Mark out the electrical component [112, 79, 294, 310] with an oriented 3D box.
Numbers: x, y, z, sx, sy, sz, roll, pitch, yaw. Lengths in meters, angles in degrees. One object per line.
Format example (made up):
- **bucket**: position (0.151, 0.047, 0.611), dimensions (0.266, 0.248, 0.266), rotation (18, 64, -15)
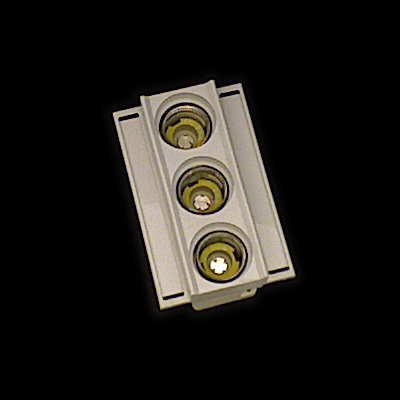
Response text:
- **electrical component**: position (0.000, 0.000, 0.637), dimensions (0.079, 0.121, 0.063), rotation (-13, -16, -5)
